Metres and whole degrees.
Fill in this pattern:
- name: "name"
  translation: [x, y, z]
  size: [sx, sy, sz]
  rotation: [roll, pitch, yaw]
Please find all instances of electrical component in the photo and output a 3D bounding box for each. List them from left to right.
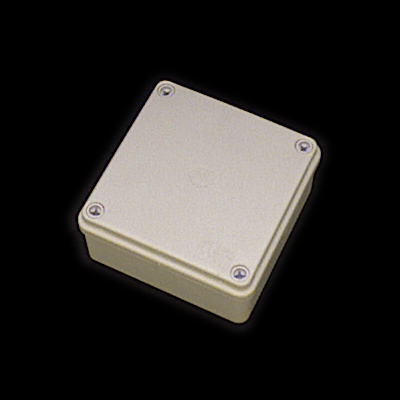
- name: "electrical component"
  translation: [0.000, 0.000, 0.630]
  size: [0.108, 0.109, 0.056]
  rotation: [23, -26, 11]
